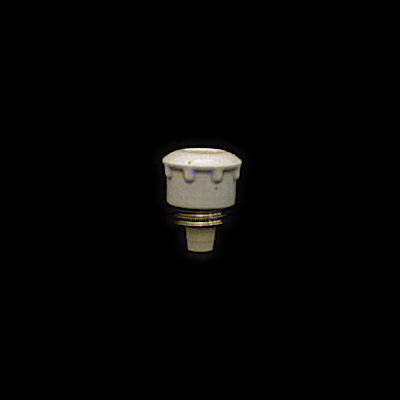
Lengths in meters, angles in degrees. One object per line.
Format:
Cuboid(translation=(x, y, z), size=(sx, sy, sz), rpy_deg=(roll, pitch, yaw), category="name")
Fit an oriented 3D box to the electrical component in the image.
Cuboid(translation=(0.000, 0.000, 0.654), size=(0.048, 0.062, 0.048), rpy_deg=(1, 11, 0), category="electrical component")
